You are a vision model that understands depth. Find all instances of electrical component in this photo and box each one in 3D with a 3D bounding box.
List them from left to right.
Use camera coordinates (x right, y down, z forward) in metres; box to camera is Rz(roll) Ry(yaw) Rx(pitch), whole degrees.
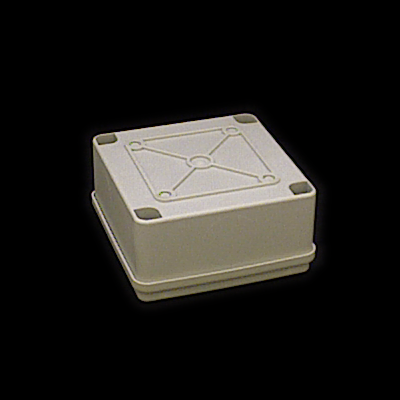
[{"bbox_3d":[0.000,0.000,0.632,0.109,0.057,0.107,-10,33,-16],"label":"electrical component"}]
